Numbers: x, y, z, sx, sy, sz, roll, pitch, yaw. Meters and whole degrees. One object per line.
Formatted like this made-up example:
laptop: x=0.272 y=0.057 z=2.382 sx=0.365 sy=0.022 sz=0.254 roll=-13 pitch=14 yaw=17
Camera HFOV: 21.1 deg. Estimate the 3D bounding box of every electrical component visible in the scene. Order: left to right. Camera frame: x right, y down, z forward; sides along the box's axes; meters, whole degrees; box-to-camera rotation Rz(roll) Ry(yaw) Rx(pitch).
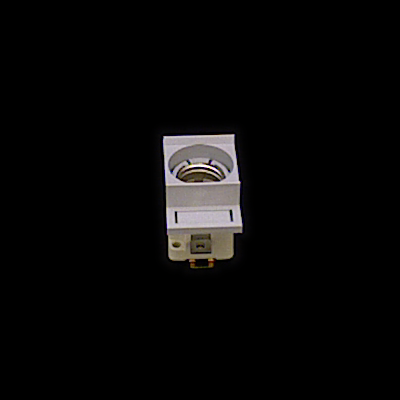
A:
electrical component: x=0.000 y=0.000 z=0.627 sx=0.042 sy=0.064 sz=0.080 roll=-1 pitch=41 yaw=-3
